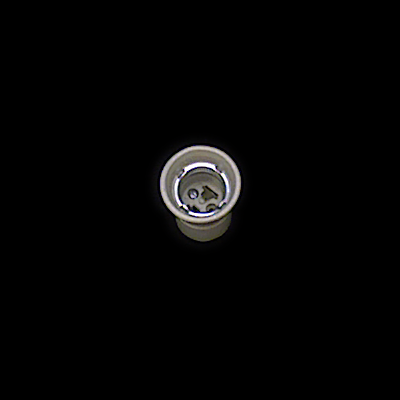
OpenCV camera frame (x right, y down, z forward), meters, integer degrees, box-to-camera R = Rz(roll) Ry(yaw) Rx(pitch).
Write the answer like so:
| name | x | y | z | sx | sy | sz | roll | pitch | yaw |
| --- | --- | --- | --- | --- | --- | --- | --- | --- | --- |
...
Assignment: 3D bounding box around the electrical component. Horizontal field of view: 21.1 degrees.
| name | x | y | z | sx | sy | sz | roll | pitch | yaw |
| --- | --- | --- | --- | --- | --- | --- | --- | --- | --- |
| electrical component | 0.000 | 0.000 | 0.624 | 0.044 | 0.044 | 0.065 | 0 | -17 | 2 |
